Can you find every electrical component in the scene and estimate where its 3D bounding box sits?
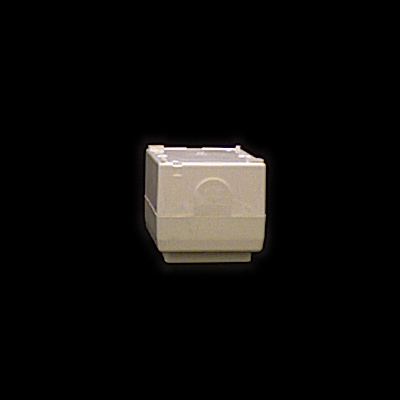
[{"bbox_3d":[0.000,0.000,0.646,0.062,0.061,0.095,0,10,-9],"label":"electrical component"}]
